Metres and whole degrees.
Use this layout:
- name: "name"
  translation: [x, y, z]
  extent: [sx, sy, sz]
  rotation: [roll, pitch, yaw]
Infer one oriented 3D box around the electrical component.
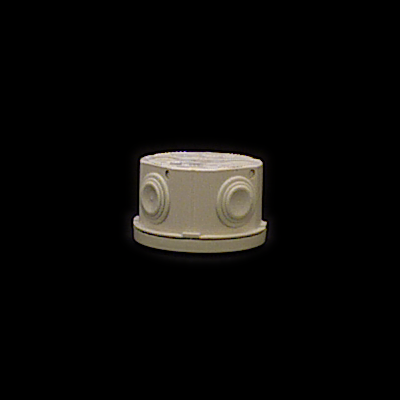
- name: "electrical component"
  translation: [0.000, 0.000, 0.644]
  extent: [0.080, 0.051, 0.079]
  rotation: [1, 11, 0]
